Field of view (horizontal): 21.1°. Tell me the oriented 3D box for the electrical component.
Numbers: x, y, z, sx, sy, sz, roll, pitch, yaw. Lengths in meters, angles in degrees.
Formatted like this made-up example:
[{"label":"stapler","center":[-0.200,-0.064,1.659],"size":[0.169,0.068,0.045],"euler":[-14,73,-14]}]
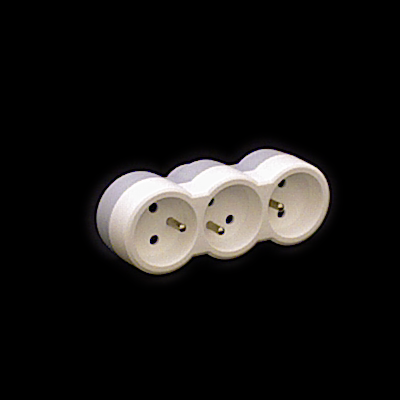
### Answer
[{"label":"electrical component","center":[0.000,0.000,0.639],"size":[0.138,0.053,0.073],"euler":[-12,22,-28]}]
